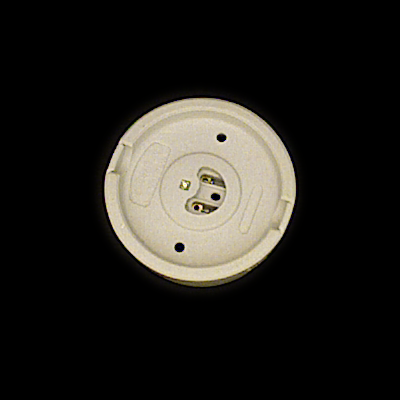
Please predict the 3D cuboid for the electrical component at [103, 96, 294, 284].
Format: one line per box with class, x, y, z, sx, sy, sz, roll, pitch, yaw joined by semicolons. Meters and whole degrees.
electrical component;0.000;0.000;0.633;0.108;0.108;0.060;0;-16;0
